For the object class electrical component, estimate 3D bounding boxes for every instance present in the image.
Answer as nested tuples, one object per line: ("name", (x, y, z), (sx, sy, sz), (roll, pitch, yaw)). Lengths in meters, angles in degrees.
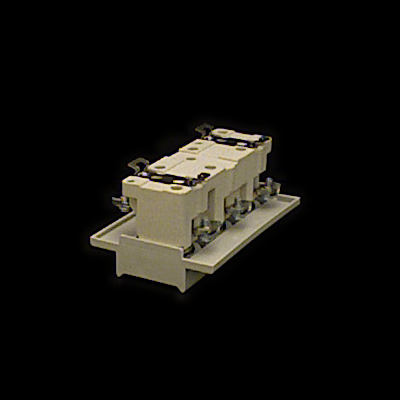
("electrical component", (0.000, 0.000, 0.645), (0.078, 0.064, 0.121), (12, 24, 25))
